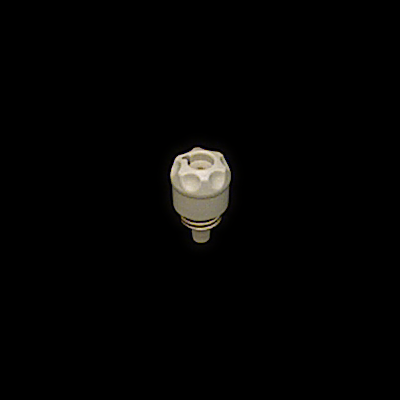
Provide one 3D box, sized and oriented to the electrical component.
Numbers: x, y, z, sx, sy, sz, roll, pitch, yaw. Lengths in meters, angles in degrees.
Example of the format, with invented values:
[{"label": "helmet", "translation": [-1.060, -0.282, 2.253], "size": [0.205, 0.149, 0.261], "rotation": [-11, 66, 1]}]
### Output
[{"label": "electrical component", "translation": [0.000, 0.000, 0.639], "size": [0.035, 0.062, 0.035], "rotation": [0, 42, 0]}]
